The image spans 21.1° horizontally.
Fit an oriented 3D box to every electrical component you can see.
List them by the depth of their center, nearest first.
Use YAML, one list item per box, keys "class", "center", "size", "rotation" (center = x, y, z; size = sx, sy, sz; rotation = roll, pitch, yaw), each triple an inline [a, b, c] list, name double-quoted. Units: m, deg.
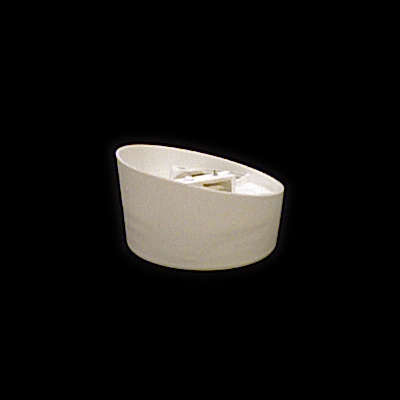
- class: "electrical component"
  center: [0.000, 0.000, 0.636]
  size: [0.099, 0.065, 0.097]
  rotation: [1, 21, 0]
